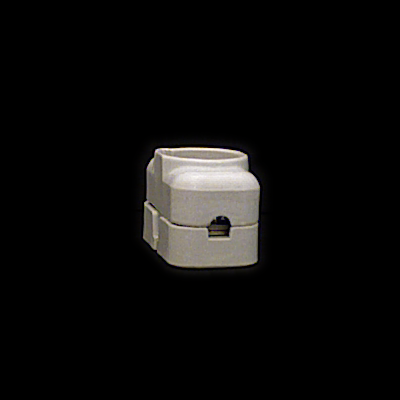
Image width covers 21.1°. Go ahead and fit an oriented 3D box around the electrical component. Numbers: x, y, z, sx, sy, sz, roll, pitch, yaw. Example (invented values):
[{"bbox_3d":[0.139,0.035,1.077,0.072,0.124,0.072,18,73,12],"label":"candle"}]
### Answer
[{"bbox_3d":[0.000,0.000,0.650,0.054,0.060,0.094,-2,11,-15],"label":"electrical component"}]
